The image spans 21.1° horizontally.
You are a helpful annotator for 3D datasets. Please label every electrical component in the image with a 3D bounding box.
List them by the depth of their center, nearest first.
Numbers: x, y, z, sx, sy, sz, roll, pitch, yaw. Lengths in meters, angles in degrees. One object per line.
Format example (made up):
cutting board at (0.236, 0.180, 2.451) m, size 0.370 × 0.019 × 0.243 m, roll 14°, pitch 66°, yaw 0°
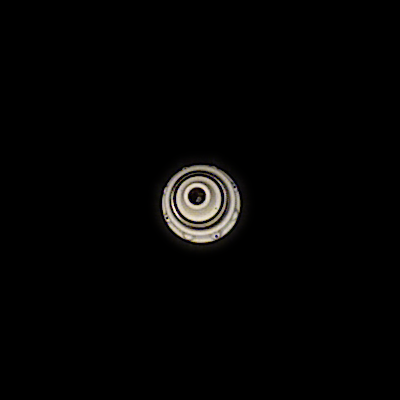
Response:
electrical component at (0.000, 0.000, 0.634) m, size 0.048 × 0.048 × 0.062 m, roll 0°, pitch -6°, yaw 2°
